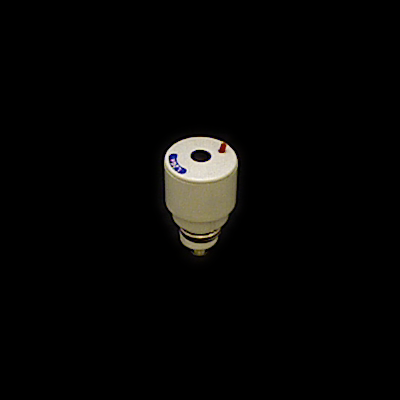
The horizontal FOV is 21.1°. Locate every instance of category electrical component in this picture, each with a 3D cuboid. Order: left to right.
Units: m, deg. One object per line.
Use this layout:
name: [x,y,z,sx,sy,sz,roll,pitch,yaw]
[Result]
electrical component: [0.000,0.000,0.624,0.040,0.079,0.039,1,41,-1]
